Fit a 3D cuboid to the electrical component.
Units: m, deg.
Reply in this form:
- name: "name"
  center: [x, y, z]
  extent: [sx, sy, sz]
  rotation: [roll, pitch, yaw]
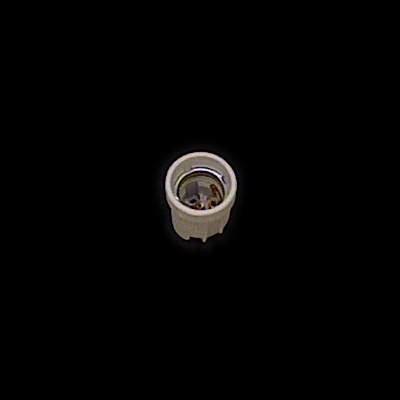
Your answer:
- name: "electrical component"
  center: [0.000, 0.000, 0.627]
  extent: [0.040, 0.040, 0.046]
  rotation: [0, -27, 0]
